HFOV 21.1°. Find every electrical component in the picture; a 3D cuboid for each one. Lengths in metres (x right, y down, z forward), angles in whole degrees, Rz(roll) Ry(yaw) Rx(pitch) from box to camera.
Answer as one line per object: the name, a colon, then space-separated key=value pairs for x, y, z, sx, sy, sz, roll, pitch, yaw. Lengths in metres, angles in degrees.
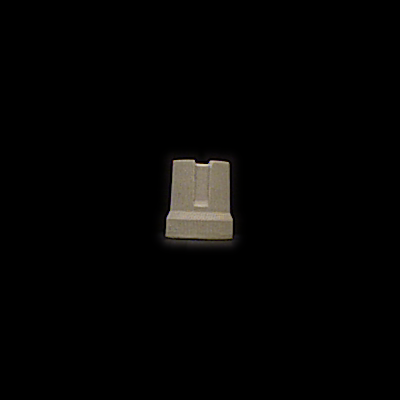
electrical component: x=0.000 y=0.000 z=0.651 sx=0.040 sy=0.046 sz=0.040 roll=2 pitch=1 yaw=0
